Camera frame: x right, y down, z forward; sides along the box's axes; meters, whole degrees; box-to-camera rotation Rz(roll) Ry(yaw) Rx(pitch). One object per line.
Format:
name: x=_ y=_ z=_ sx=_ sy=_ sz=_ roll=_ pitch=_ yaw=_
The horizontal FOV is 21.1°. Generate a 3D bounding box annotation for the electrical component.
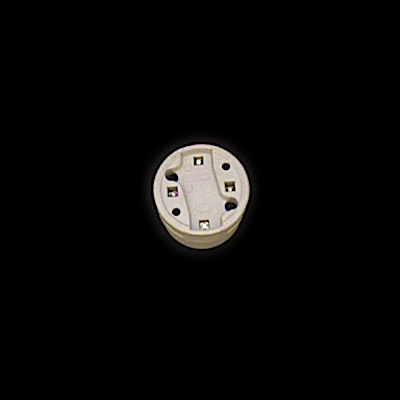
electrical component: x=0.000 y=0.000 z=0.635 sx=0.055 sy=0.056 sz=0.047 roll=0 pitch=-17 yaw=0
